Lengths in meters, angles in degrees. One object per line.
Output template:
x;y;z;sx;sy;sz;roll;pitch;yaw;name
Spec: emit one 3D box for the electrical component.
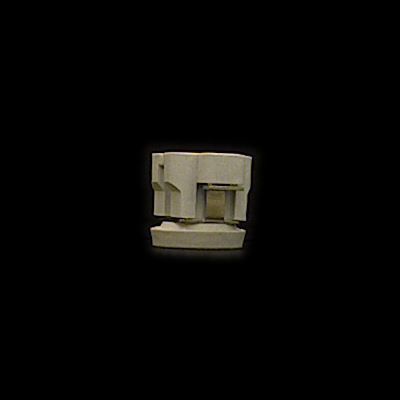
0.000;0.000;0.656;0.058;0.057;0.078;1;2;-25;electrical component
